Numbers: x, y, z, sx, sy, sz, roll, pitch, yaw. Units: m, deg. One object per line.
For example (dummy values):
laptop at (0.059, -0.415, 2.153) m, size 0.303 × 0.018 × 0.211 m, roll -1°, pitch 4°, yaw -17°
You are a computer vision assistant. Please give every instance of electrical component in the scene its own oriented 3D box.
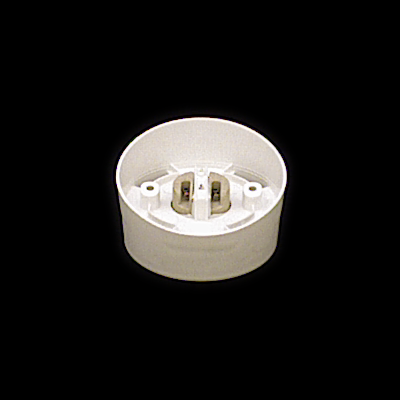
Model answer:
electrical component at (0.000, 0.000, 0.633) m, size 0.099 × 0.065 × 0.097 m, roll 0°, pitch 30°, yaw 0°
